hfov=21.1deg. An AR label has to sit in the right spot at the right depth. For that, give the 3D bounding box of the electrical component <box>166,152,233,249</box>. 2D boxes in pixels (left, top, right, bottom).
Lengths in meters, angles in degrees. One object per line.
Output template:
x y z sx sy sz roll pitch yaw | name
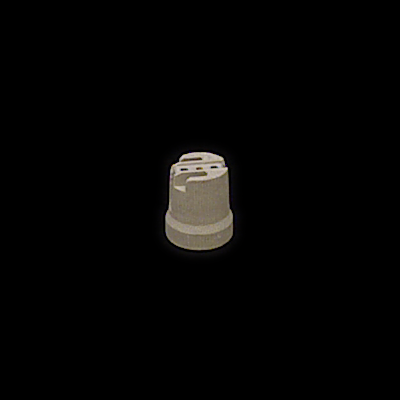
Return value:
0.000 0.000 0.639 0.040 0.046 0.040 1 31 0 | electrical component
